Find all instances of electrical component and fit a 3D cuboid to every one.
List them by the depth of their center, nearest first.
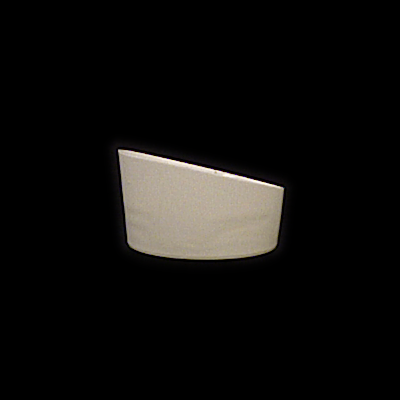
[{"bbox_3d":[0.000,0.000,0.642,0.099,0.064,0.098,1,11,0],"label":"electrical component"}]
